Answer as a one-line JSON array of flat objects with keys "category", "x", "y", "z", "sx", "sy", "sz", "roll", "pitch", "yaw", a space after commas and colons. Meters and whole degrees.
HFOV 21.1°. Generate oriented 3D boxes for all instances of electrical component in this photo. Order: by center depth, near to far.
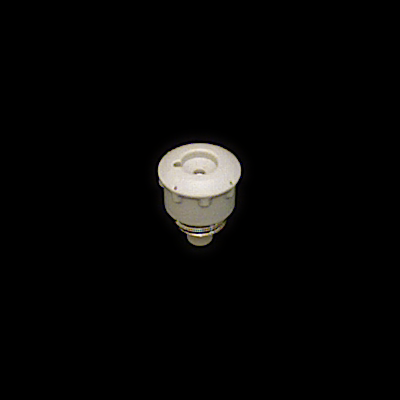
[{"category": "electrical component", "x": 0.000, "y": 0.000, "z": 0.635, "sx": 0.048, "sy": 0.062, "sz": 0.048, "roll": 0, "pitch": 42, "yaw": 0}]
